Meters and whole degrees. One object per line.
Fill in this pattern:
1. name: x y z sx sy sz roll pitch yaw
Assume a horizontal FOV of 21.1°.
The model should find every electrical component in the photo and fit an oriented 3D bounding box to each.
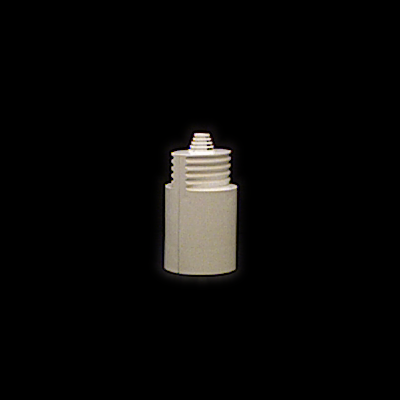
1. electrical component: 0.000 0.000 0.643 0.043 0.081 0.043 1 11 0
